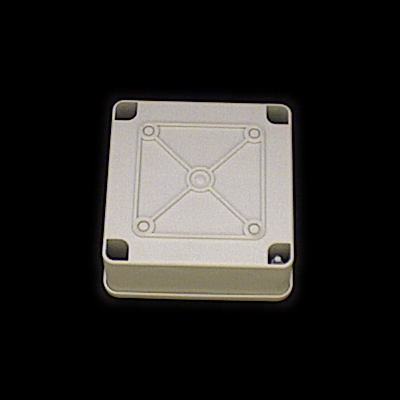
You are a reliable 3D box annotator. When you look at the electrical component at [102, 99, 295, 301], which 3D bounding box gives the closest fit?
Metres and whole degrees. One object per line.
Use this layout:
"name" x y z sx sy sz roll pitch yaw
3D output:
"electrical component" 0.000 0.000 0.627 0.109 0.109 0.056 1 -26 0
